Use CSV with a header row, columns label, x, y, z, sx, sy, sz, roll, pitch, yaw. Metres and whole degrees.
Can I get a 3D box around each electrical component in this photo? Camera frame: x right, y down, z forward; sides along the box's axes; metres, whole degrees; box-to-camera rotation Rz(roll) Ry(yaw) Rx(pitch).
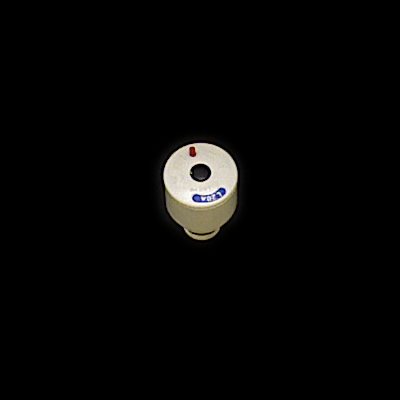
label,x,y,z,sx,sy,sz,roll,pitch,yaw
electrical component,0.000,0.000,0.619,0.040,0.040,0.078,0,-28,1
